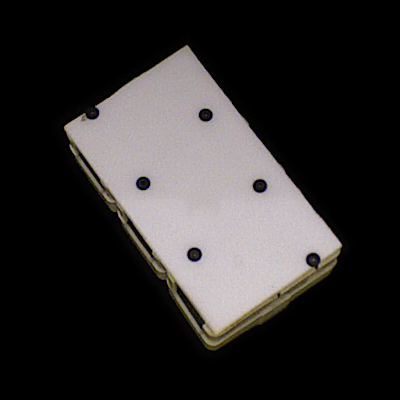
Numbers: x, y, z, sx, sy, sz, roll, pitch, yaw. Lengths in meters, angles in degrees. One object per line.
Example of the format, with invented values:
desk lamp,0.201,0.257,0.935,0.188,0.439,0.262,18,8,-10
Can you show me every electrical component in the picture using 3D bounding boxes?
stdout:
electrical component,0.000,0.000,0.630,0.089,0.150,0.062,-34,-14,-9
